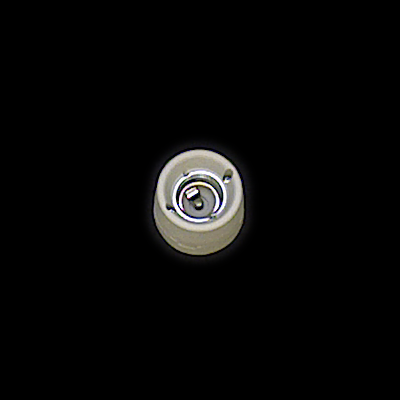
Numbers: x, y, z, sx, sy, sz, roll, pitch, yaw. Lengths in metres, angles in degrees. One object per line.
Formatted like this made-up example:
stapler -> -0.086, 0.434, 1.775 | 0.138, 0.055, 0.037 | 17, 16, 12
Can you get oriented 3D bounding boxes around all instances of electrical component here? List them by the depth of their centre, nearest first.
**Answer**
electrical component -> 0.000, 0.000, 0.633 | 0.055, 0.056, 0.047 | 0, -17, -1
